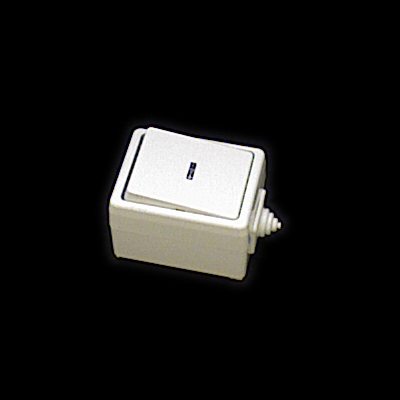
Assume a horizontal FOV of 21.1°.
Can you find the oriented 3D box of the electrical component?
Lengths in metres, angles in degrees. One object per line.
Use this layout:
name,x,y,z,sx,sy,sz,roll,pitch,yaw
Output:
electrical component,0.000,0.000,0.627,0.096,0.061,0.061,10,-37,7
